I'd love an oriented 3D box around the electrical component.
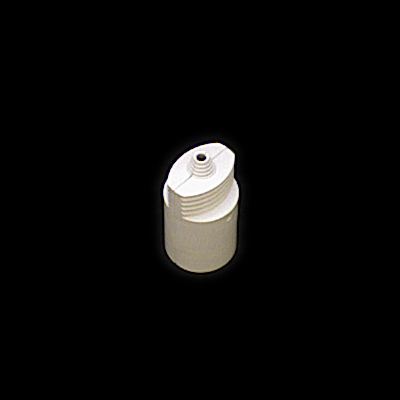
[{"bbox_3d":[0.000,0.000,0.619,0.043,0.043,0.081,0,-38,0],"label":"electrical component"}]
